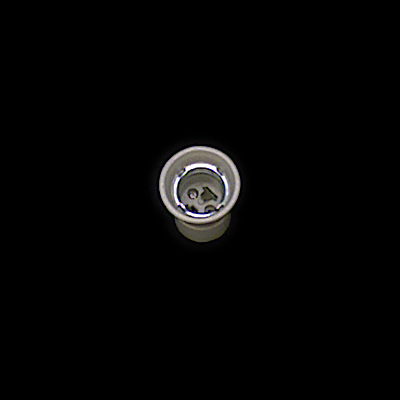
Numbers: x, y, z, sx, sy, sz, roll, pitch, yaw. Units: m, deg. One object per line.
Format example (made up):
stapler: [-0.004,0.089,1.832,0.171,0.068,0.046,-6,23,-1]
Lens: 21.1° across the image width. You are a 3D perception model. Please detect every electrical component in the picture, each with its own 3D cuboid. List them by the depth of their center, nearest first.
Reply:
electrical component: [0.000,0.000,0.624,0.044,0.044,0.065,0,-17,2]
